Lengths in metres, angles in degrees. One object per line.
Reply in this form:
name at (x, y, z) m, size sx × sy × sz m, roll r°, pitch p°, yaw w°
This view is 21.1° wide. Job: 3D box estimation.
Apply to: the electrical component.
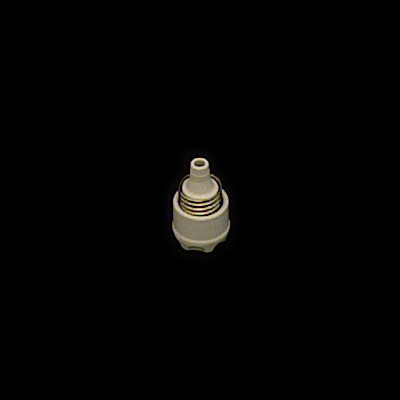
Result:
electrical component at (0.000, 0.000, 0.642) m, size 0.035 × 0.062 × 0.035 m, roll -1°, pitch 43°, yaw 1°
